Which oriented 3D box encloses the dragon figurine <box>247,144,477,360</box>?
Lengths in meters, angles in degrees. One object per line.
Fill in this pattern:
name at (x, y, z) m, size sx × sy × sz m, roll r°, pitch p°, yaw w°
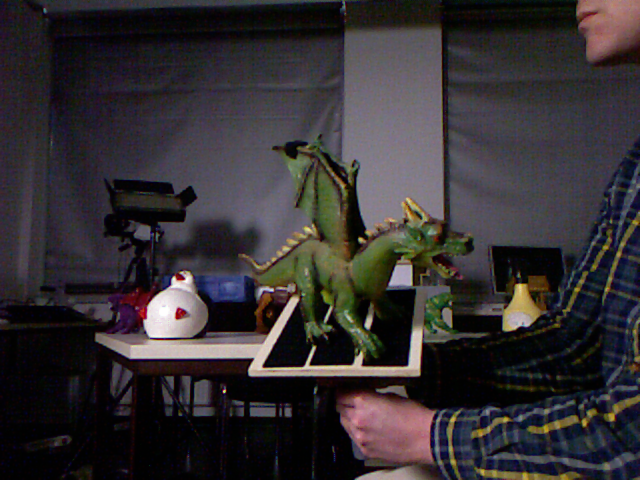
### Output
dragon figurine at (0.002, -0.004, 0.639) m, size 0.124 × 0.239 × 0.413 m, roll -26°, pitch 28°, yaw -38°
